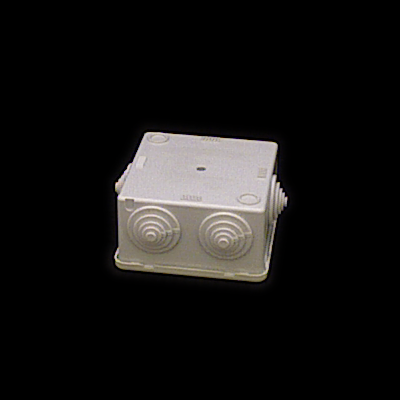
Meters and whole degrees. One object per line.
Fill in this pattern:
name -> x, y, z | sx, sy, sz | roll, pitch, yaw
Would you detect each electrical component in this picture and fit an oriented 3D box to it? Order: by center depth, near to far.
electrical component -> 0.000, 0.000, 0.637 | 0.099, 0.049, 0.098 | 5, 32, 7
